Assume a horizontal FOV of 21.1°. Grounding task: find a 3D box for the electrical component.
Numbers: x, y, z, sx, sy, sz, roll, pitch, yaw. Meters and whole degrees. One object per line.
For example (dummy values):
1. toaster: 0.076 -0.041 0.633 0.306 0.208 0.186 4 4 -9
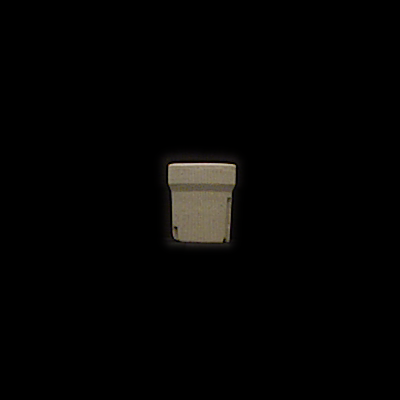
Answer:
1. electrical component: 0.000 0.000 0.650 0.040 0.046 0.040 1 1 1
